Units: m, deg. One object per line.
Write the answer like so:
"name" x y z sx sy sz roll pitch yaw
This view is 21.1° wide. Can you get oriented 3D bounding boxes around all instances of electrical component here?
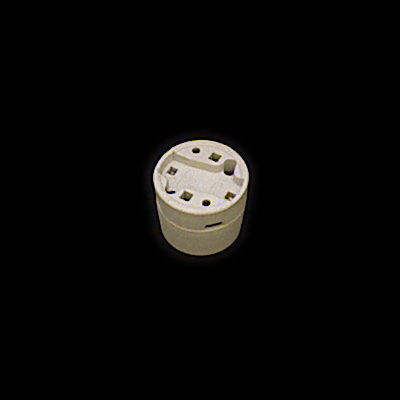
"electrical component" 0.000 0.000 0.634 0.055 0.055 0.047 0 -38 -1
